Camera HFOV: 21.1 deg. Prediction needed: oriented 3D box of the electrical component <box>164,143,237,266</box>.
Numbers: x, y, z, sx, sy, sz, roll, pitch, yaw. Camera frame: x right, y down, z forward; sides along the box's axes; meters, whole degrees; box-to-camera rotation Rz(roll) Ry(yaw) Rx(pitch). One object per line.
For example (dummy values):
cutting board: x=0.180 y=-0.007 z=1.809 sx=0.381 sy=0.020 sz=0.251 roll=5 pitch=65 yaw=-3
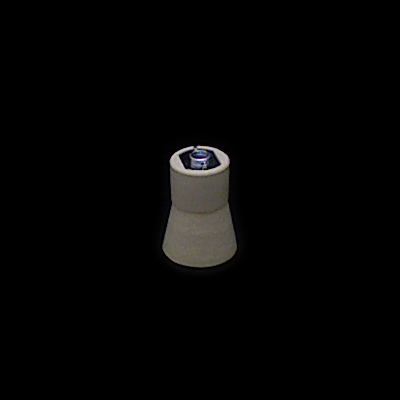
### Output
electrical component: x=0.000 y=0.000 z=0.633 sx=0.044 sy=0.066 sz=0.044 roll=0 pitch=32 yaw=0
